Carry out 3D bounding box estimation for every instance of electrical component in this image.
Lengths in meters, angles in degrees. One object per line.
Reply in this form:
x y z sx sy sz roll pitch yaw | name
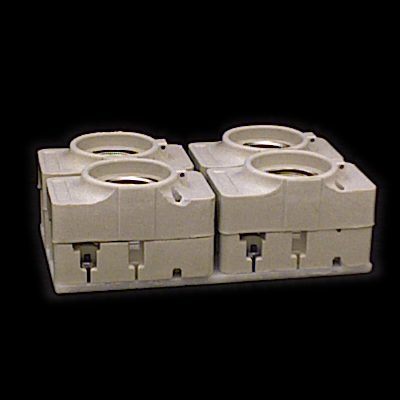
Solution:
0.000 0.000 0.640 0.186 0.061 0.104 -3 21 -12 | electrical component
